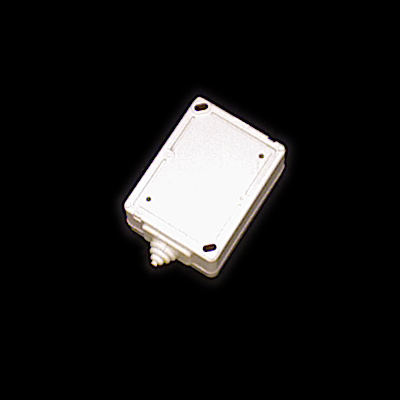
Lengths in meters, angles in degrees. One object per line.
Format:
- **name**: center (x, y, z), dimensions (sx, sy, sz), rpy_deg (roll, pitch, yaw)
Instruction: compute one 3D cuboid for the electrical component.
- **electrical component**: center (0.000, 0.000, 0.628), dimensions (0.062, 0.097, 0.060), rpy_deg (31, -14, 9)
